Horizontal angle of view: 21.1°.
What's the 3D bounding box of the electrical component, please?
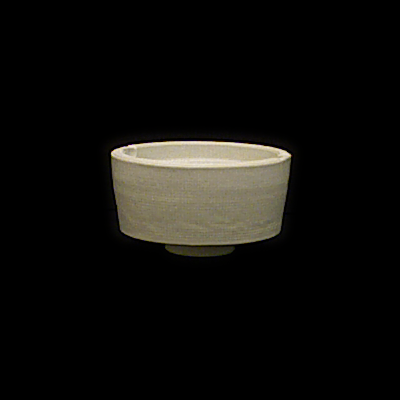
[{"bbox_3d":[0.000,0.000,0.652,0.108,0.061,0.107,1,11,0],"label":"electrical component"}]
